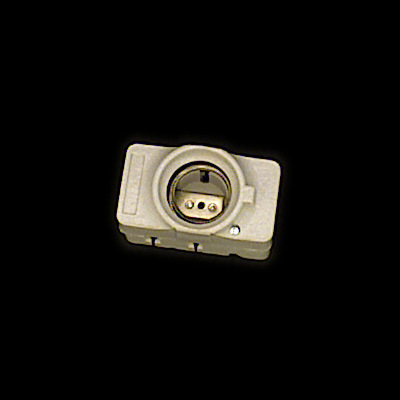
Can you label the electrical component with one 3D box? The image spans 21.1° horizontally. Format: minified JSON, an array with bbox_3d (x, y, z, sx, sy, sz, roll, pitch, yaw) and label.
[{"bbox_3d":[0.000,0.000,0.636,0.089,0.050,0.055,7,-16,2],"label":"electrical component"}]
